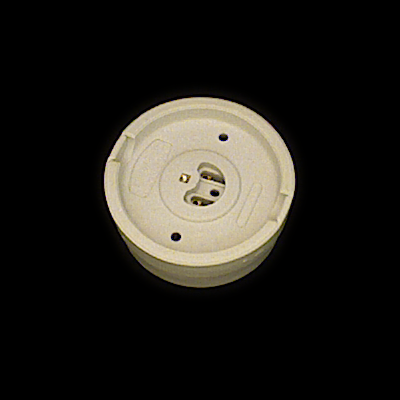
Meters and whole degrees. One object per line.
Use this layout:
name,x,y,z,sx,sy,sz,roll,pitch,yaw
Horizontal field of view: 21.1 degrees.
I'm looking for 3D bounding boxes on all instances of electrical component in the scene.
electrical component,0.000,0.000,0.633,0.108,0.108,0.060,0,-26,-1
